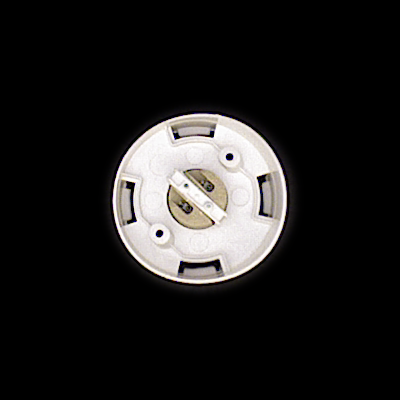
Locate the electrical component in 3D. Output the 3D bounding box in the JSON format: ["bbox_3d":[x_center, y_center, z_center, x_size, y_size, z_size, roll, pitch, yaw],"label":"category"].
[{"bbox_3d":[0.000,0.000,0.624,0.099,0.099,0.064,0,-7,-1],"label":"electrical component"}]
